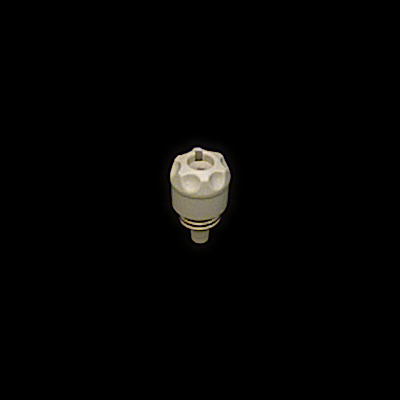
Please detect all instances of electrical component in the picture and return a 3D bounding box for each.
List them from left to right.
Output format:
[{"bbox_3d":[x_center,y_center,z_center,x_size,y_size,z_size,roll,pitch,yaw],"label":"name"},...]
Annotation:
[{"bbox_3d":[0.000,0.000,0.640,0.035,0.062,0.035,1,42,0],"label":"electrical component"}]
